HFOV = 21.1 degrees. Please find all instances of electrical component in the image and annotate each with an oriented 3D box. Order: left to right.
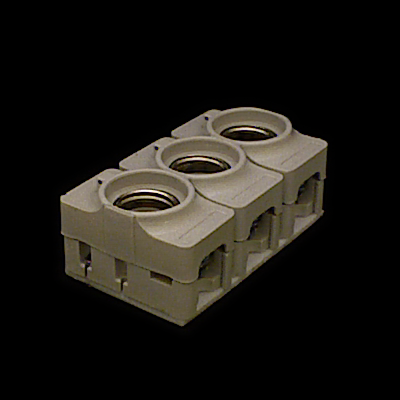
[{"bbox_3d":[0.000,0.000,0.640,0.088,0.063,0.148,20,35,30],"label":"electrical component"}]
